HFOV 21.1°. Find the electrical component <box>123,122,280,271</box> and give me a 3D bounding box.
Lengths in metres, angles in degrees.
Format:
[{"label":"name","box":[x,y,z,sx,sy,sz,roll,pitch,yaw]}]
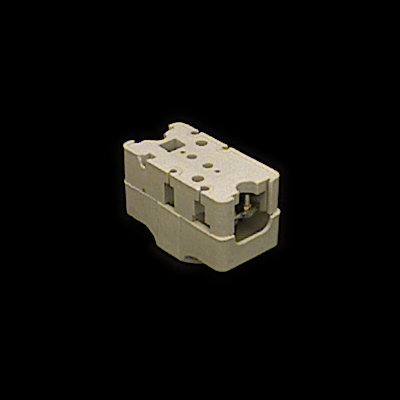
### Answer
[{"label":"electrical component","box":[0.000,0.000,0.642,0.050,0.056,0.088,-26,41,-35]}]
